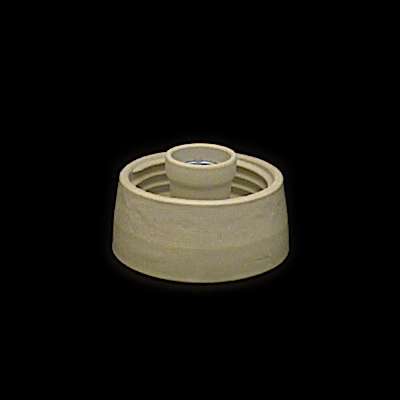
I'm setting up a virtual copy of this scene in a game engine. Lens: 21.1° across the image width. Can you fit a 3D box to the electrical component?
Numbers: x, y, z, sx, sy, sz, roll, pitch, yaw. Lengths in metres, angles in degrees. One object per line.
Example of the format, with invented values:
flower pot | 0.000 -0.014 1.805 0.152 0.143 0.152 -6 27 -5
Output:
electrical component | 0.000 0.000 0.647 0.108 0.061 0.106 1 21 0
